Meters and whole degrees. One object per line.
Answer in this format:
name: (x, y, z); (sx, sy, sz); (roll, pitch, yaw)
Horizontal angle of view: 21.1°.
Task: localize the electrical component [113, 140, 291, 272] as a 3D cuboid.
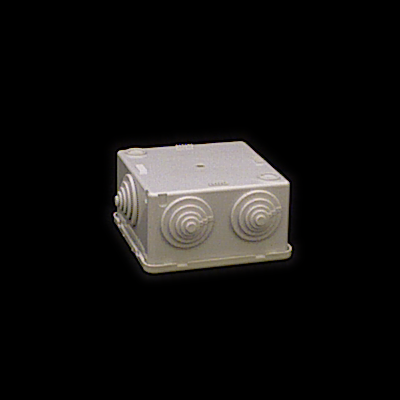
electrical component: (0.000, 0.000, 0.640); (0.100, 0.049, 0.098); (-5, 22, -16)
